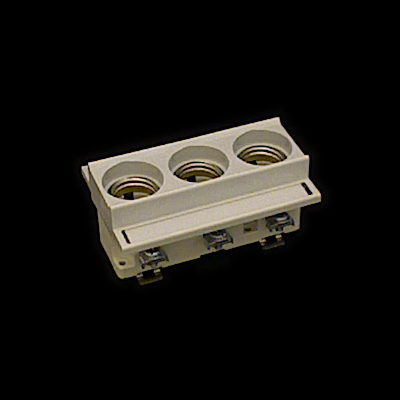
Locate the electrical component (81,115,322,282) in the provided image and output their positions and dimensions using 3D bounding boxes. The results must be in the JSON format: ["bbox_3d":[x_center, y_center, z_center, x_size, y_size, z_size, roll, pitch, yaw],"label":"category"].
[{"bbox_3d":[0.000,0.000,0.643,0.122,0.064,0.077,-15,43,-16],"label":"electrical component"}]
